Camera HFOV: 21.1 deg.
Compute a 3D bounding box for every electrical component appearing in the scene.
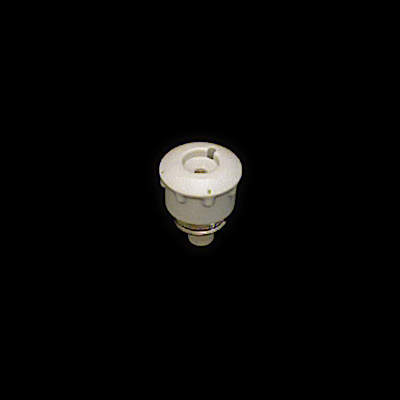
[{"bbox_3d":[0.000,0.000,0.638,0.048,0.062,0.047,1,43,0],"label":"electrical component"}]
